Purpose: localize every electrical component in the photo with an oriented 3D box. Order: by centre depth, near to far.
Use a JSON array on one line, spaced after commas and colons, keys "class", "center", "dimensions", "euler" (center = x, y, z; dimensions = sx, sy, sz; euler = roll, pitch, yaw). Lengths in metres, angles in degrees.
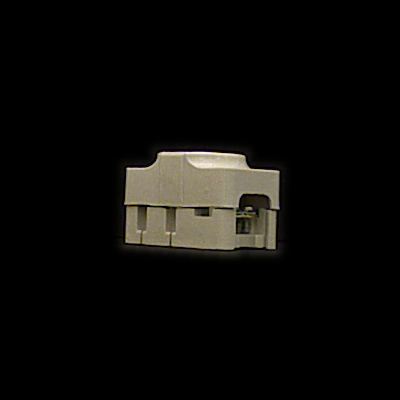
[{"class": "electrical component", "center": [0.000, -0.001, 0.657], "dimensions": [0.088, 0.056, 0.050], "euler": [2, 2, 44]}]
